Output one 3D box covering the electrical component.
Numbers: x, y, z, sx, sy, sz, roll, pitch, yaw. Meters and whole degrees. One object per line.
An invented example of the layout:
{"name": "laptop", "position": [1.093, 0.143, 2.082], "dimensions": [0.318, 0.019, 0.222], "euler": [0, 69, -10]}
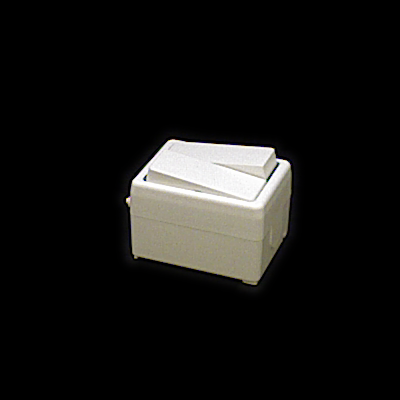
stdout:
{"name": "electrical component", "position": [0.000, 0.000, 0.635], "dimensions": [0.096, 0.061, 0.061], "euler": [12, 33, 17]}
